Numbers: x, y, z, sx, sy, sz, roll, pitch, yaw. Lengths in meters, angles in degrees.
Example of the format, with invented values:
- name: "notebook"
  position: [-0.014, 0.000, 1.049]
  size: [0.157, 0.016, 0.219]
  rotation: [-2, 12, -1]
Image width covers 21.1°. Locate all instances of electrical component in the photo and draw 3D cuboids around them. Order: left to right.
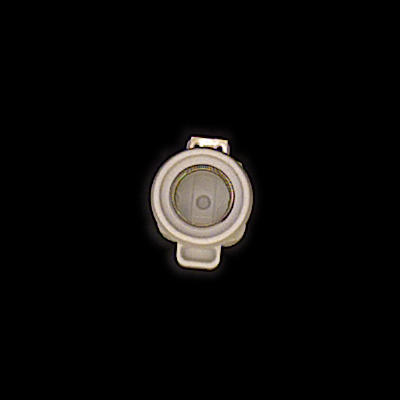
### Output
- name: "electrical component"
  position: [0.000, 0.000, 0.630]
  size: [0.058, 0.078, 0.056]
  rotation: [5, -6, 1]
